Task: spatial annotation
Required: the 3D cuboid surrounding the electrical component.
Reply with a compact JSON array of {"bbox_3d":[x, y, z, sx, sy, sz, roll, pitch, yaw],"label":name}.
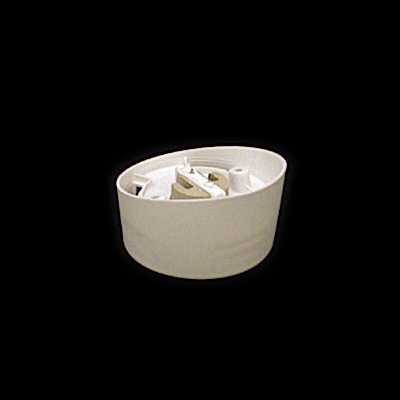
[{"bbox_3d":[0.000,0.000,0.633,0.099,0.065,0.097,2,32,-1],"label":"electrical component"}]
